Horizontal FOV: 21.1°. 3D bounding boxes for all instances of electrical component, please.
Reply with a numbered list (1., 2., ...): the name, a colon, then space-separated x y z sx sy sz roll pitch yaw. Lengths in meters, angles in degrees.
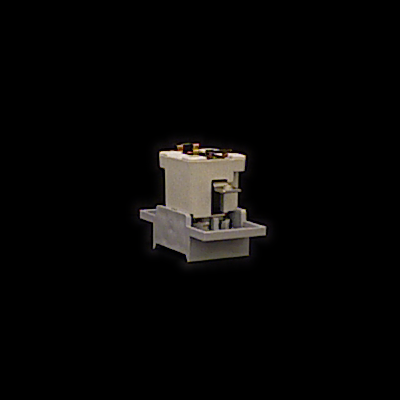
1. electrical component: 0.000 0.000 0.644 0.042 0.064 0.080 -6 13 -30
